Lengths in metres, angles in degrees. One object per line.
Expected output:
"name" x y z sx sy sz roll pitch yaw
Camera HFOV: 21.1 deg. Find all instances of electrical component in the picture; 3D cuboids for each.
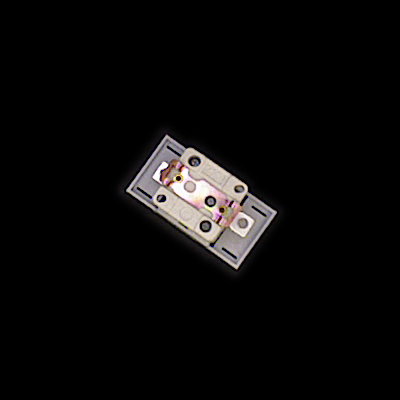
"electrical component" 0.000 0.000 0.626 0.081 0.042 0.063 35 -4 4
